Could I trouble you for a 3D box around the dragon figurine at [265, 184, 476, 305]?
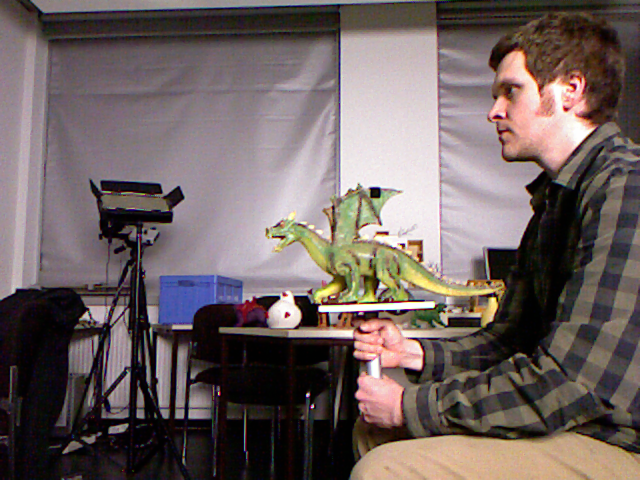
[{"bbox_3d":[0.097,0.005,1.020,0.410,0.244,0.121,-3,-7,-7],"label":"dragon figurine"}]
